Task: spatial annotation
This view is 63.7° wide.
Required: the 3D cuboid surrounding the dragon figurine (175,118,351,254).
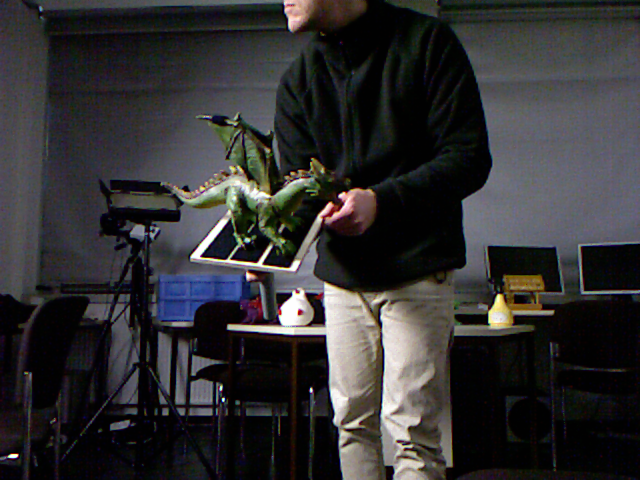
[{"bbox_3d":[-0.137,-0.115,0.934,0.412,0.237,0.125,16,43,23],"label":"dragon figurine"}]
